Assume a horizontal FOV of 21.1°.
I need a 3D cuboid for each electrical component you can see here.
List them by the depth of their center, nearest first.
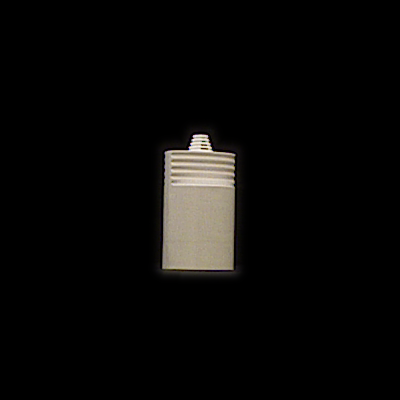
[{"bbox_3d":[0.000,0.000,0.650,0.043,0.081,0.043,1,1,0],"label":"electrical component"}]
